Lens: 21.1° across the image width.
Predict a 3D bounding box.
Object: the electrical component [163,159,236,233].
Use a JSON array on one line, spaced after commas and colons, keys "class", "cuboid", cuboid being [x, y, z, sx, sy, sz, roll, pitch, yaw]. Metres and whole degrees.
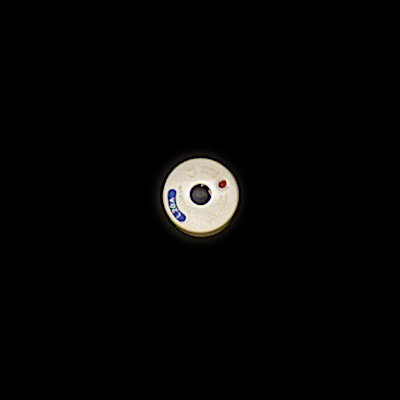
[{"class": "electrical component", "cuboid": [0.000, 0.000, 0.618, 0.040, 0.040, 0.078, 0, -6, 0]}]
